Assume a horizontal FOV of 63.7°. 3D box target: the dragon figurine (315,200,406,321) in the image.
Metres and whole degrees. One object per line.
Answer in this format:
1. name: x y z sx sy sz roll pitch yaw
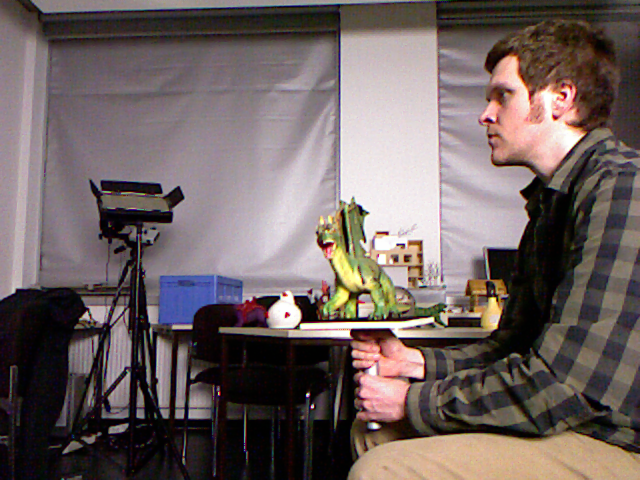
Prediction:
1. dragon figurine: 0.091 0.038 1.037 0.122 0.244 0.410 -7 -6 25
